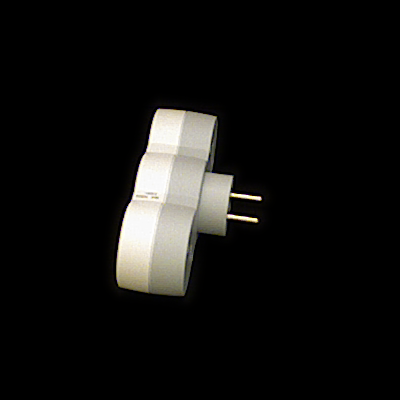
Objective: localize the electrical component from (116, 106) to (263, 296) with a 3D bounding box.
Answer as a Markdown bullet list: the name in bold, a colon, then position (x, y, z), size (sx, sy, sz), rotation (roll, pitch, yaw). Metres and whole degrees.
- **electrical component**: position (0.000, 0.000, 0.639), size (0.073, 0.052, 0.137), rotation (7, 43, 5)
